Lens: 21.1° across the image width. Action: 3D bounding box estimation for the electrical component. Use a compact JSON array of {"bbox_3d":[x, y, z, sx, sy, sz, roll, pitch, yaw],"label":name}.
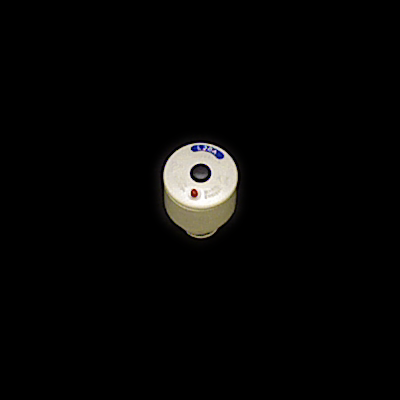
[{"bbox_3d":[0.000,0.000,0.617,0.040,0.040,0.078,0,-27,0],"label":"electrical component"}]
